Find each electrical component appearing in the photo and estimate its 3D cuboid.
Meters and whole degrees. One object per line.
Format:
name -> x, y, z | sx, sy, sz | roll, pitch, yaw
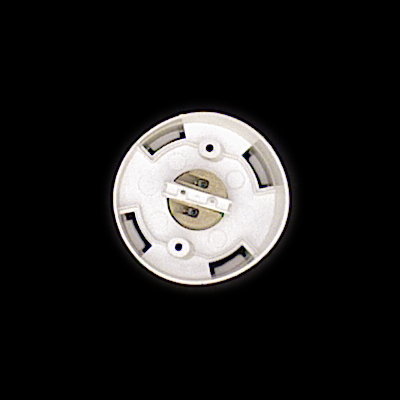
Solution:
electrical component -> 0.000, 0.000, 0.625 | 0.099, 0.099, 0.064 | 0, -7, -1
